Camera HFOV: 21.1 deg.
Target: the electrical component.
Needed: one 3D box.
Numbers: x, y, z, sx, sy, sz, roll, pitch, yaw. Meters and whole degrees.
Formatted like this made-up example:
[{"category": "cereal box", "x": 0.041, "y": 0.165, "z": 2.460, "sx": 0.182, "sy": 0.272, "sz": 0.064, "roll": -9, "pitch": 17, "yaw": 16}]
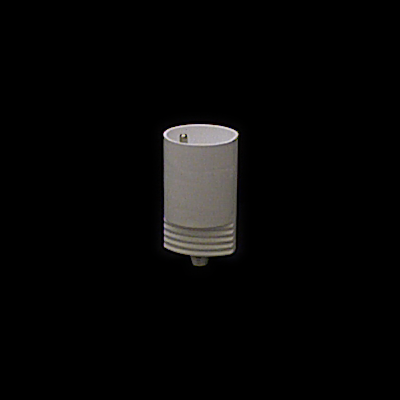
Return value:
[{"category": "electrical component", "x": 0.000, "y": 0.000, "z": 0.633, "sx": 0.043, "sy": 0.082, "sz": 0.042, "roll": 1, "pitch": 20, "yaw": 0}]
